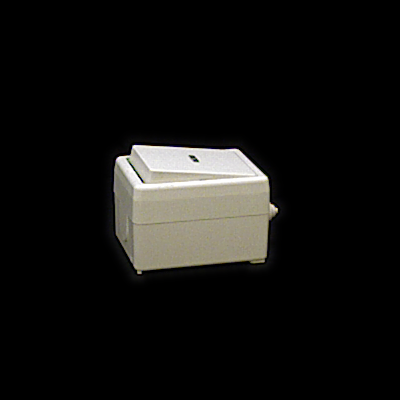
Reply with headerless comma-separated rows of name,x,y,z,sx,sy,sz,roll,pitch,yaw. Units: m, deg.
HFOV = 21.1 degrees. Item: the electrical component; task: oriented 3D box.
electrical component,0.000,0.000,0.639,0.096,0.061,0.061,-5,22,-15
